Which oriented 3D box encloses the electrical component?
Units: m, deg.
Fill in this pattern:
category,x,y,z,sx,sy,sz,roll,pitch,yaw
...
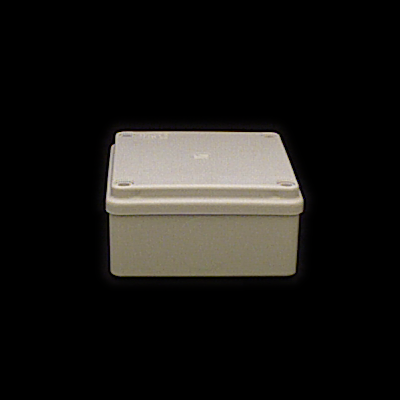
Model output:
category,x,y,z,sx,sy,sz,roll,pitch,yaw
electrical component,0.000,0.000,0.638,0.109,0.057,0.107,0,21,-3
